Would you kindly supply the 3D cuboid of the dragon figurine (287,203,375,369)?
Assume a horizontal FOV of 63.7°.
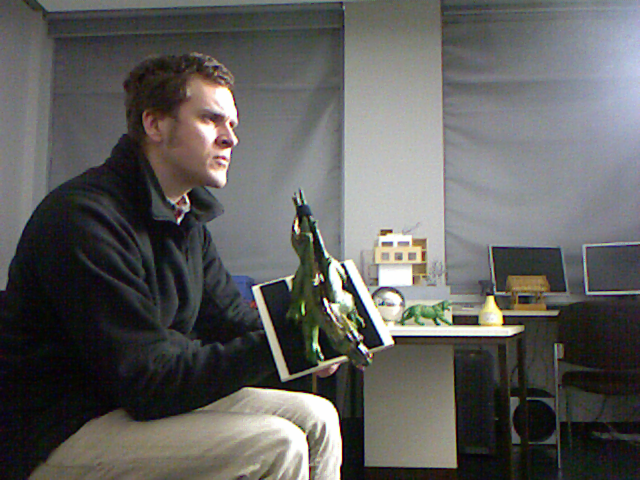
[{"bbox_3d":[-0.007,0.036,0.840,0.123,0.421,0.238,-16,-37,-10],"label":"dragon figurine"}]
